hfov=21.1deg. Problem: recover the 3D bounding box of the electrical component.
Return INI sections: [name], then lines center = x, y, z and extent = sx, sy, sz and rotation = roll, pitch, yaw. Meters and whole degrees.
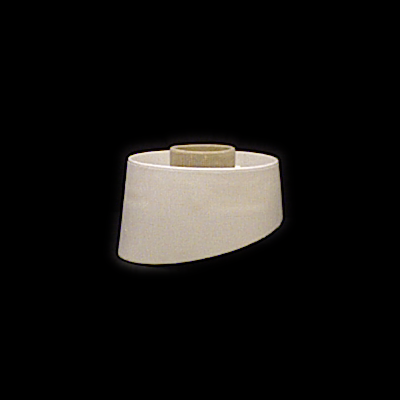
[electrical component]
center = 0.000, 0.000, 0.645
extent = 0.099, 0.064, 0.098
rotation = 1, 11, 0
